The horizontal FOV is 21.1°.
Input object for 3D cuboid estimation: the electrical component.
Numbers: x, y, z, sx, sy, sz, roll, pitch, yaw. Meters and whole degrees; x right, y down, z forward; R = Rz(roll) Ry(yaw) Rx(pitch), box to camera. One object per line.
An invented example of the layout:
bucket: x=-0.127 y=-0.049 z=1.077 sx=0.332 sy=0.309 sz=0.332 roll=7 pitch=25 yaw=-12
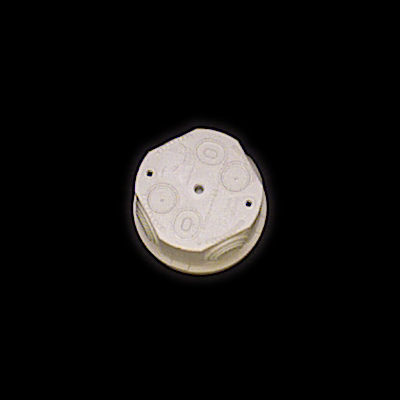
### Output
electrical component: x=0.000 y=0.000 z=0.632 sx=0.080 sy=0.080 sz=0.050 roll=0 pitch=-17 yaw=1
